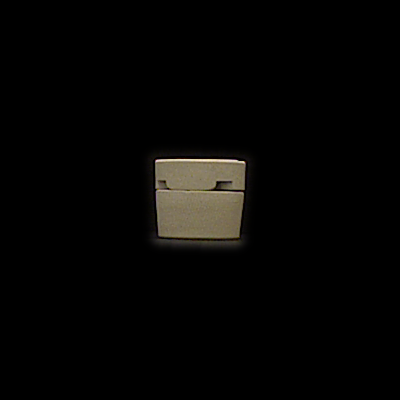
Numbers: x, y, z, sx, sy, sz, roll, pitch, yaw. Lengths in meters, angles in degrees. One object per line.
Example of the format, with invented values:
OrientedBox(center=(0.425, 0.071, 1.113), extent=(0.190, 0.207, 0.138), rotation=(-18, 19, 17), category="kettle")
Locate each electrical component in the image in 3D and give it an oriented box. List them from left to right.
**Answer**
OrientedBox(center=(-0.001, 0.000, 0.649), extent=(0.055, 0.047, 0.055), rotation=(2, 0, 0), category="electrical component")
